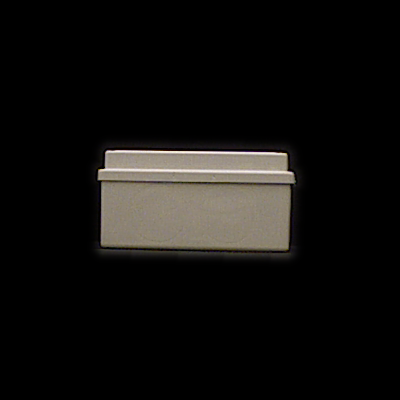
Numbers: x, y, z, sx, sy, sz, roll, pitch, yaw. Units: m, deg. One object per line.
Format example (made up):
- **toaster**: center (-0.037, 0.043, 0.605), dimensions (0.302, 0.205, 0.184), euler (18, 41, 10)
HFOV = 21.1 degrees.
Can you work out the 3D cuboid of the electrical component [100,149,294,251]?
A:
- **electrical component**: center (0.000, 0.000, 0.652), dimensions (0.113, 0.057, 0.078), euler (1, 0, 5)
